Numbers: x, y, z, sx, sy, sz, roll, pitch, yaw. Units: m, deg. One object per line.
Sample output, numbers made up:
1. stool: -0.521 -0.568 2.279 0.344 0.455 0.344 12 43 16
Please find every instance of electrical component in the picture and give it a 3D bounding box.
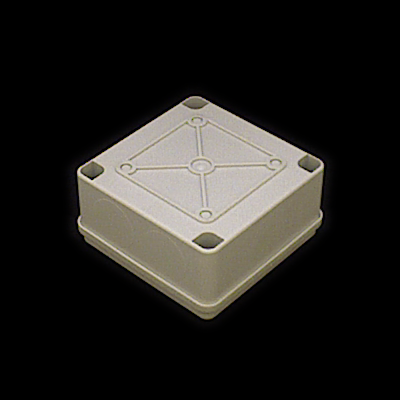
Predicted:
1. electrical component: 0.000 0.000 0.633 0.108 0.057 0.108 31 49 29
